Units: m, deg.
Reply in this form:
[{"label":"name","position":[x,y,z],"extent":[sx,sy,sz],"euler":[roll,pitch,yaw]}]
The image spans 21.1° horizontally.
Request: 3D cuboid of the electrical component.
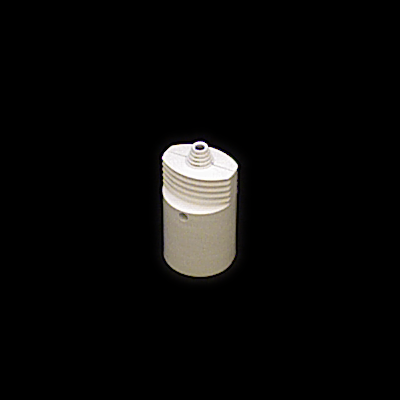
[{"label":"electrical component","position":[0.000,0.000,0.624],"extent":[0.043,0.082,0.042],"euler":[0,42,0]}]
